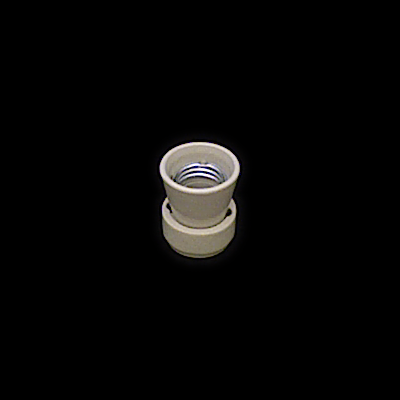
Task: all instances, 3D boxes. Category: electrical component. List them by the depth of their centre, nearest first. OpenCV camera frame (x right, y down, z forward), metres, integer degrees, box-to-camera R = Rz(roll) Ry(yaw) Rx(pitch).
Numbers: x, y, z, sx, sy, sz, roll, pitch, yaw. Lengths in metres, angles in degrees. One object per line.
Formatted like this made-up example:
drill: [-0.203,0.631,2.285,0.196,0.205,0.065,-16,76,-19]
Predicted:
electrical component: [0.000,0.000,0.631,0.045,0.055,0.044,0,43,0]
